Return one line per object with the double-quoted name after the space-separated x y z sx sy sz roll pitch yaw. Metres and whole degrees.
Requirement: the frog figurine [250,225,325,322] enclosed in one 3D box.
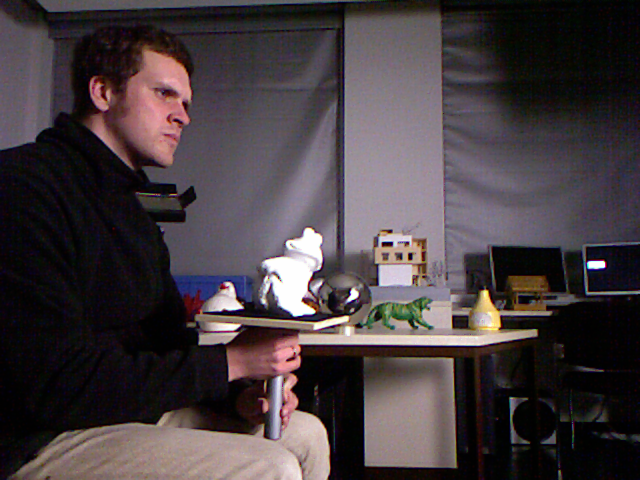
-0.056 0.052 0.893 0.123 0.160 0.137 3 -2 40 "frog figurine"
